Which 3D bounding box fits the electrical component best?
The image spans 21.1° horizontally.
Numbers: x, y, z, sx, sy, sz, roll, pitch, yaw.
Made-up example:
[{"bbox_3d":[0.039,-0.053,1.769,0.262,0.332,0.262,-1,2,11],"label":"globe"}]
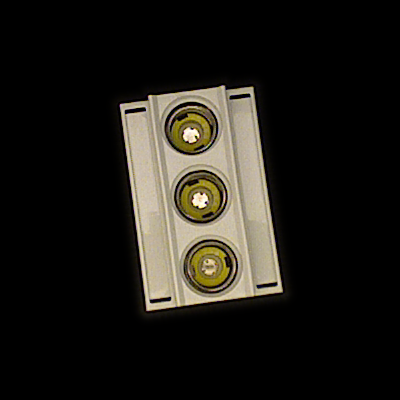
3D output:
[{"bbox_3d":[0.000,0.000,0.637,0.079,0.121,0.063,-7,-6,-2],"label":"electrical component"}]
